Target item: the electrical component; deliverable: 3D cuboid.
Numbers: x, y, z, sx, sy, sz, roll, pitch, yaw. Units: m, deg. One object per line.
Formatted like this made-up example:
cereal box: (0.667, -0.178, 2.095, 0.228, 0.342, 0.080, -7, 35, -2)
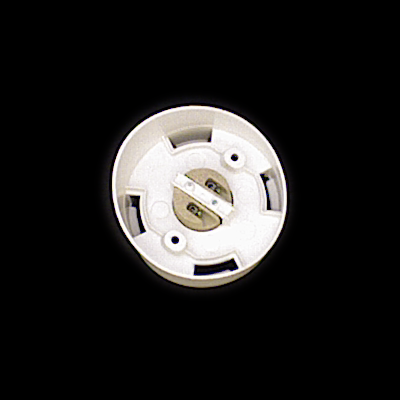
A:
electrical component: (0.000, 0.000, 0.623, 0.099, 0.099, 0.064, 0, -17, 1)
